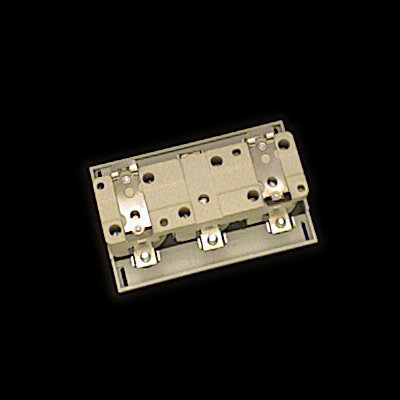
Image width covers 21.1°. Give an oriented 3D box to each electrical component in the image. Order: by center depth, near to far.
[{"bbox_3d":[0.000,0.000,0.634,0.122,0.079,0.063,-14,-16,-4],"label":"electrical component"}]
